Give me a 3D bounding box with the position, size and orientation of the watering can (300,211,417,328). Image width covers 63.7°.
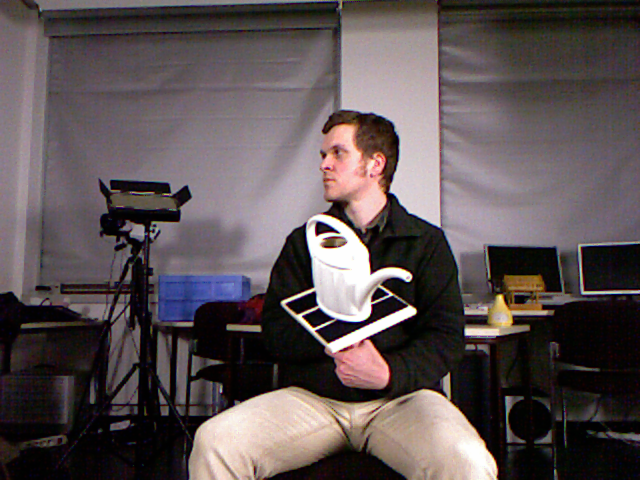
[{"bbox_3d":[0.061,0.073,0.984,0.105,0.220,0.353,-22,32,-25],"label":"watering can"}]
